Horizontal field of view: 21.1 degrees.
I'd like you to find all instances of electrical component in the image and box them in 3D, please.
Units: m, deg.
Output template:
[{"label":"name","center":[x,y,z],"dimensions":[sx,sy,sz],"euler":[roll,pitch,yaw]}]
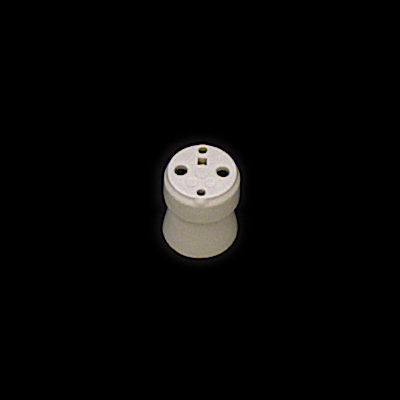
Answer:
[{"label":"electrical component","center":[0.000,0.000,0.630],"dimensions":[0.045,0.044,0.055],"euler":[0,-37,-1]}]
